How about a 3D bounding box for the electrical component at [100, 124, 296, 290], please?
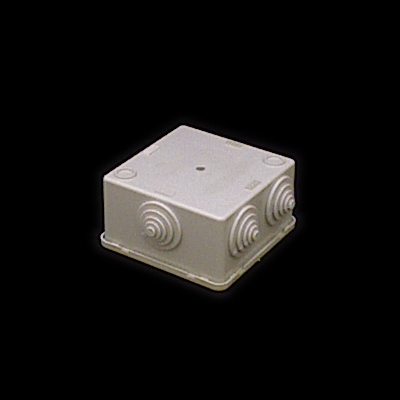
[{"bbox_3d":[0.000,0.000,0.638,0.099,0.049,0.099,20,36,27],"label":"electrical component"}]
